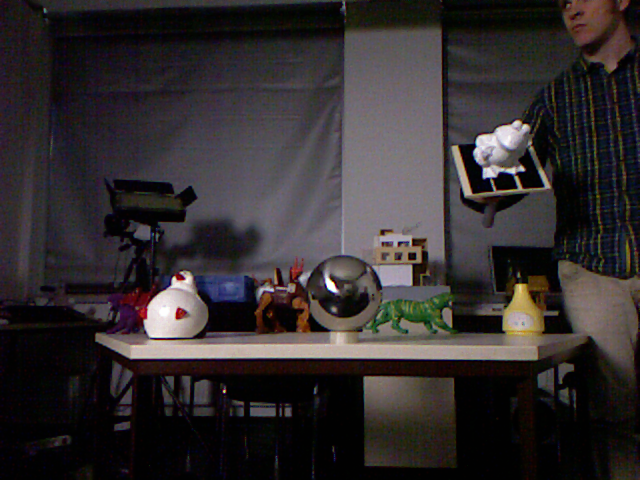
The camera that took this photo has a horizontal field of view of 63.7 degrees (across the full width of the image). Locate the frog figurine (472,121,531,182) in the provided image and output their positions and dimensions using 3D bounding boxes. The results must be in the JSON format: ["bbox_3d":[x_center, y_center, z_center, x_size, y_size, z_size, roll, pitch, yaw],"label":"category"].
[{"bbox_3d":[0.455,-0.238,1.287,0.137,0.155,0.126,4,45,8],"label":"frog figurine"}]
